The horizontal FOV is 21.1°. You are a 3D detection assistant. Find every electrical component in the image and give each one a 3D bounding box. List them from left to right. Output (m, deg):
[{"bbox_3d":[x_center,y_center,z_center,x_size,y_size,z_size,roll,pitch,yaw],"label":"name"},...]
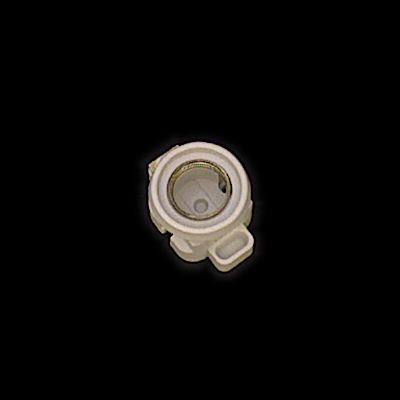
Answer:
[{"bbox_3d":[0.000,0.000,0.628,0.058,0.078,0.056,-36,-13,-10],"label":"electrical component"}]
